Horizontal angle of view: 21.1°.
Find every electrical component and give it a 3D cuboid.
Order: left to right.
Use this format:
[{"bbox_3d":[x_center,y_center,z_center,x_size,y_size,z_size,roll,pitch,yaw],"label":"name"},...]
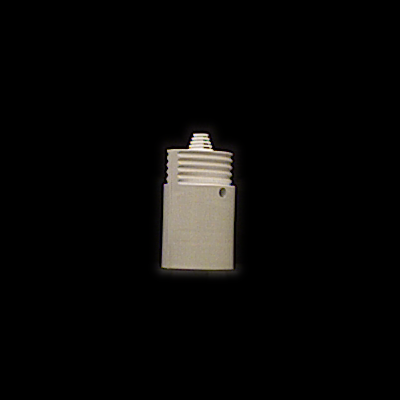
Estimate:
[{"bbox_3d":[0.000,0.000,0.649,0.043,0.081,0.043,1,1,0],"label":"electrical component"}]
